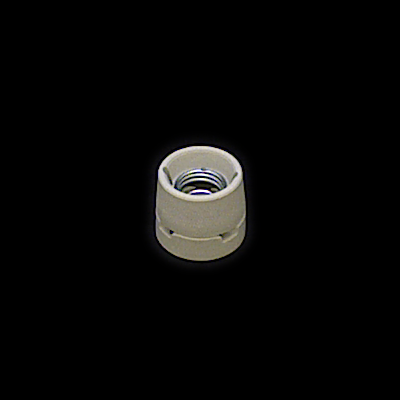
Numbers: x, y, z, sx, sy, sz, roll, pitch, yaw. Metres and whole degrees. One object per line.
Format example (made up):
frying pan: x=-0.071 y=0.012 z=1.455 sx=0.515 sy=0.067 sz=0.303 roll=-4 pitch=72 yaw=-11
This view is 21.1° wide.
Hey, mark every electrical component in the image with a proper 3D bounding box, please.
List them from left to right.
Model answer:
electrical component: x=0.000 y=0.000 z=0.636 sx=0.055 sy=0.047 sz=0.055 roll=0 pitch=42 yaw=0
